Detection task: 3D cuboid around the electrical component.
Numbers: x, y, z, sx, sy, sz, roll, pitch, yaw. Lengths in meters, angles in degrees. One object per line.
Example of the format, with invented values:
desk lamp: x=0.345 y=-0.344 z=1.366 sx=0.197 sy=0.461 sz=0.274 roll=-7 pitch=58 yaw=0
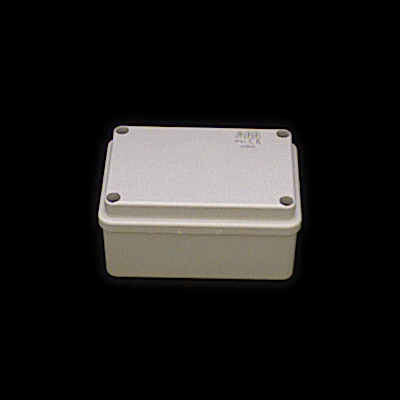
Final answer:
electrical component: x=0.000 y=0.000 z=0.633 sx=0.113 sy=0.057 sz=0.077 roll=1 pitch=42 yaw=1
